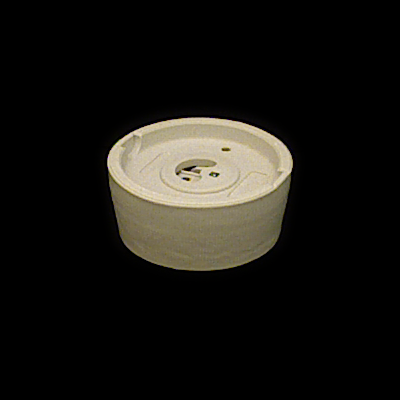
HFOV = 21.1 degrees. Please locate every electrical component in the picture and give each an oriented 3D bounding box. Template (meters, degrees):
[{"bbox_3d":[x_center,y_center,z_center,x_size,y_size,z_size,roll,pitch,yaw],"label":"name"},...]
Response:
[{"bbox_3d":[0.000,0.000,0.642,0.108,0.061,0.106,1,32,0],"label":"electrical component"}]
